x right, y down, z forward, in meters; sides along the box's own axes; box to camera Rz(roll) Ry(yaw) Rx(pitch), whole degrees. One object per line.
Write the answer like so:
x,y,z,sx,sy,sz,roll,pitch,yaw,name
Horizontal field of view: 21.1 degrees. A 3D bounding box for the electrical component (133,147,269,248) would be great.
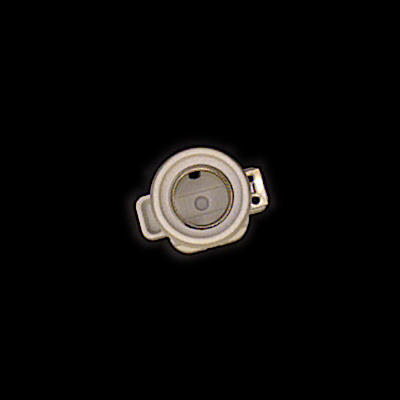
0.000,0.000,0.630,0.078,0.058,0.056,-15,-6,-1,electrical component
